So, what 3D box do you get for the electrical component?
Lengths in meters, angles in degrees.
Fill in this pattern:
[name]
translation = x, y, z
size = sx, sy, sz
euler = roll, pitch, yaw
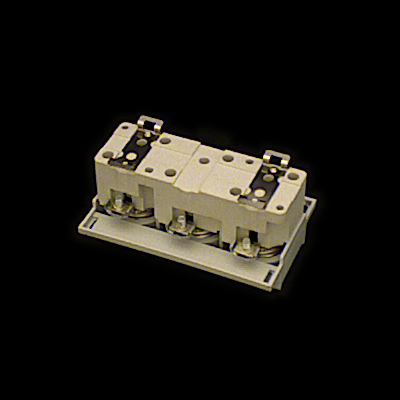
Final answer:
[electrical component]
translation = 0.000, 0.000, 0.635
size = 0.121, 0.063, 0.078
euler = 16, 45, 16
